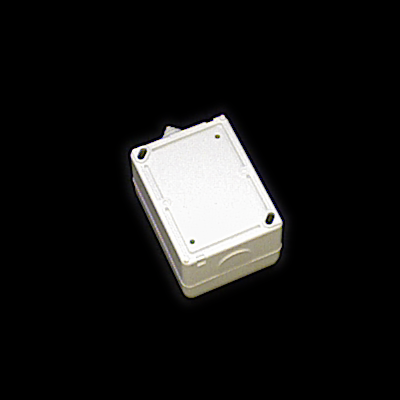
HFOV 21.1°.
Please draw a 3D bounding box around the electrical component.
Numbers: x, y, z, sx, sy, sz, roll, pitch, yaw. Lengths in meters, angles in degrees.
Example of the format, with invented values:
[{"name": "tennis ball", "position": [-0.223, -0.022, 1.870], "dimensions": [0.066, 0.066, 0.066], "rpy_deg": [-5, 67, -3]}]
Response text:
[{"name": "electrical component", "position": [0.000, 0.000, 0.629], "dimensions": [0.062, 0.096, 0.061], "rpy_deg": [-22, -25, -10]}]
